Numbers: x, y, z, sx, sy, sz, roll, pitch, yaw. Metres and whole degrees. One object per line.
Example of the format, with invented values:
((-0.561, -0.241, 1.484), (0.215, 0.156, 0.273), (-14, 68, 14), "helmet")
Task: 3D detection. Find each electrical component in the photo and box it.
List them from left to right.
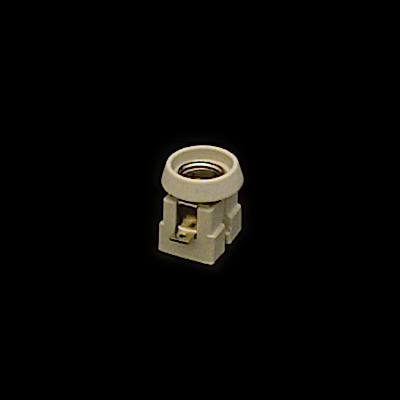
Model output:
((0.000, 0.000, 0.642), (0.048, 0.056, 0.066), (12, 34, 20), "electrical component")
